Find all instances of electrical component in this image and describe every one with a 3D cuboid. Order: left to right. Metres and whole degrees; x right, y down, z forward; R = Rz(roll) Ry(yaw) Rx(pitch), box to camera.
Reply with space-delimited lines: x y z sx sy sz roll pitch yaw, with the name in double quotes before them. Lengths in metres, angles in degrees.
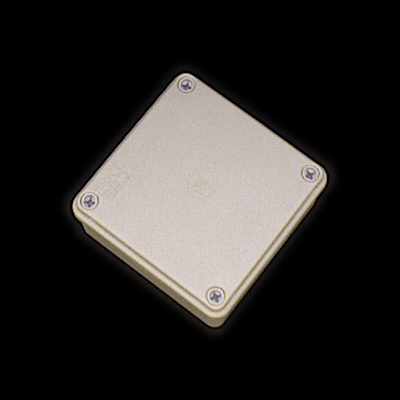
"electrical component" 0.000 0.000 0.629 0.109 0.109 0.056 36 -14 9
